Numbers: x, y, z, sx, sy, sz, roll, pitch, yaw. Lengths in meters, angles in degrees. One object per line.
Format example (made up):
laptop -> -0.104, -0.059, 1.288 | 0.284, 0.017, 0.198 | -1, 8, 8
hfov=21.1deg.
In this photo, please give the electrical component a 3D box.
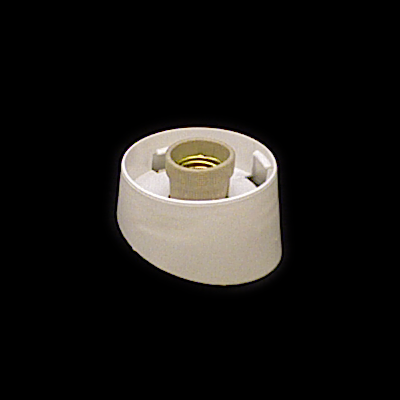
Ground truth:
electrical component -> 0.000, 0.000, 0.633 | 0.099, 0.065, 0.097 | 1, 31, 0
